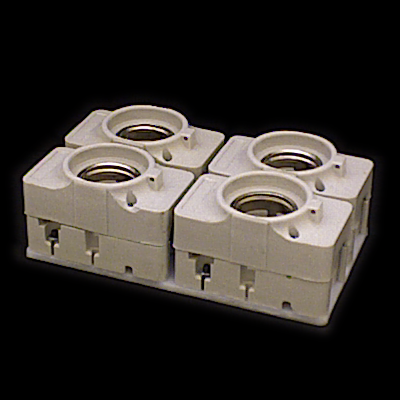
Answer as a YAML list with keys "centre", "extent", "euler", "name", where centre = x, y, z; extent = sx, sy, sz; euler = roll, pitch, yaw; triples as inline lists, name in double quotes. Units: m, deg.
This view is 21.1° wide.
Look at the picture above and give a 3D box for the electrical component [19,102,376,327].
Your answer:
- centre: [0.000, 0.000, 0.635]
  extent: [0.186, 0.061, 0.104]
  euler: [12, 33, 17]
  name: "electrical component"
